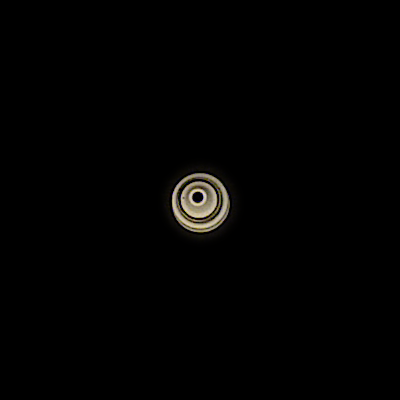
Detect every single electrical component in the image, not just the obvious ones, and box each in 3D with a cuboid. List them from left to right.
[{"bbox_3d":[0.000,0.000,0.637,0.035,0.035,0.061,0,-5,2],"label":"electrical component"}]
